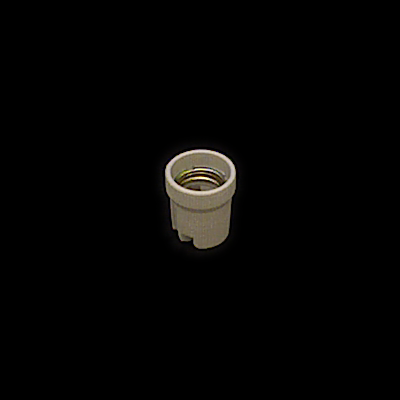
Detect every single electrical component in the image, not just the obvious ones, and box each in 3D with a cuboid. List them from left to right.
[{"bbox_3d":[0.000,0.000,0.632,0.040,0.047,0.039,1,42,0],"label":"electrical component"}]
